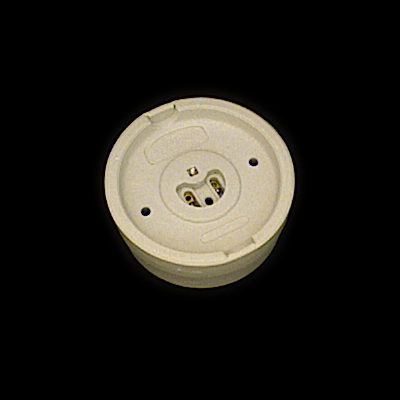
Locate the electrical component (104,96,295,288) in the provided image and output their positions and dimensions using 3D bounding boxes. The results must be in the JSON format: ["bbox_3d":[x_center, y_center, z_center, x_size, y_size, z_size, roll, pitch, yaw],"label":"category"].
[{"bbox_3d":[0.000,0.000,0.634,0.108,0.108,0.060,0,-26,0],"label":"electrical component"}]
